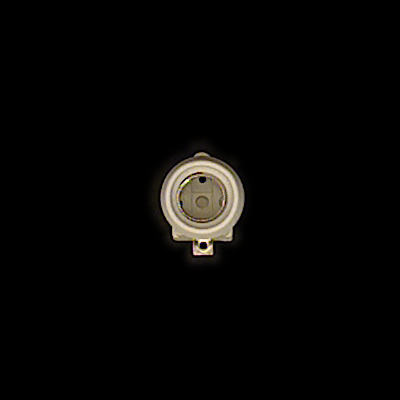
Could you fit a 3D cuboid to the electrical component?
[{"bbox_3d":[0.000,0.000,0.639,0.048,0.066,0.055,-2,-6,3],"label":"electrical component"}]
